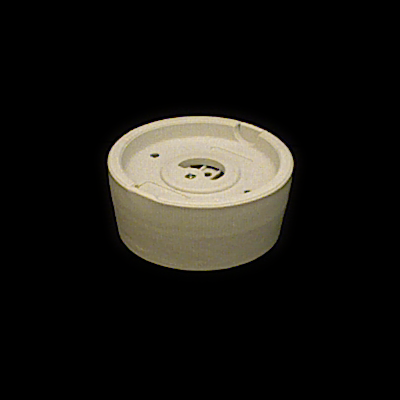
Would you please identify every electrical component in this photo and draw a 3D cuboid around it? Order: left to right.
[{"bbox_3d":[0.000,0.000,0.638,0.108,0.061,0.106,1,32,0],"label":"electrical component"}]
